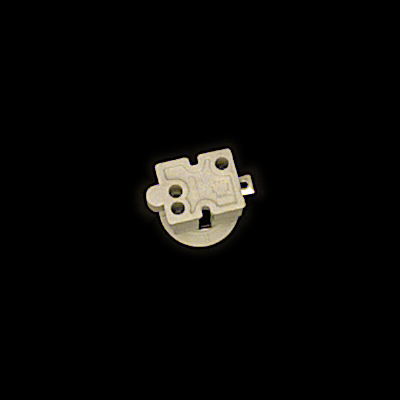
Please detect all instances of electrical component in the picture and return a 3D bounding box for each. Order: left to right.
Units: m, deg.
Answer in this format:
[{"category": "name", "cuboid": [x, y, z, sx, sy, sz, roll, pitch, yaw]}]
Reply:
[{"category": "electrical component", "cuboid": [0.000, 0.000, 0.637, 0.066, 0.048, 0.055, -13, -17, -5]}]
